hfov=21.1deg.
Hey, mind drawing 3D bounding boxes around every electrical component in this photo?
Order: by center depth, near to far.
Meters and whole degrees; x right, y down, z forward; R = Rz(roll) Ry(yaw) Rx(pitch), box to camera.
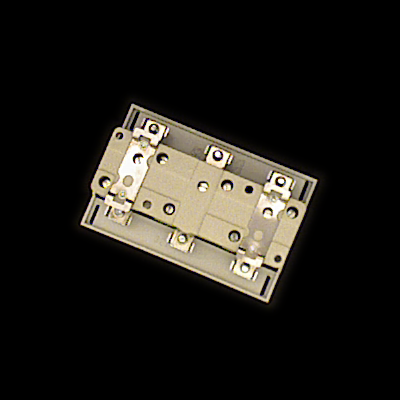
[{"bbox_3d":[0.000,0.000,0.634,0.121,0.079,0.063,22,-5,3],"label":"electrical component"}]
